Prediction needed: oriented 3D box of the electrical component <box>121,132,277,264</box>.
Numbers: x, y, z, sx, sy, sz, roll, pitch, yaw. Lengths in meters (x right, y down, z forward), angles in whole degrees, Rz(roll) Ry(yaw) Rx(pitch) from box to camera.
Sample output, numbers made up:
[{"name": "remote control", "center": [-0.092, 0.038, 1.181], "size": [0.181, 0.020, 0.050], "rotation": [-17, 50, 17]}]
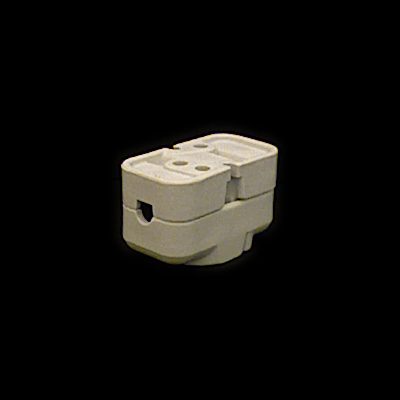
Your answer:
[{"name": "electrical component", "center": [0.000, 0.000, 0.645], "size": [0.053, 0.060, 0.095], "rotation": [20, 28, 39]}]
